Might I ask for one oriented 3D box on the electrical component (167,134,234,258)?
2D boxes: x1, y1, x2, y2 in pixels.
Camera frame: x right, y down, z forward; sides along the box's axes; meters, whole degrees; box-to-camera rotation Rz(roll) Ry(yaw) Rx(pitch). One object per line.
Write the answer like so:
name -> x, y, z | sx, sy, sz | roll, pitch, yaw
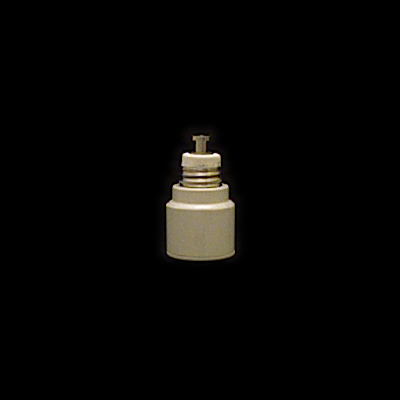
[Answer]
electrical component -> 0.000, 0.000, 0.642 | 0.040, 0.079, 0.040 | 0, 12, 0
